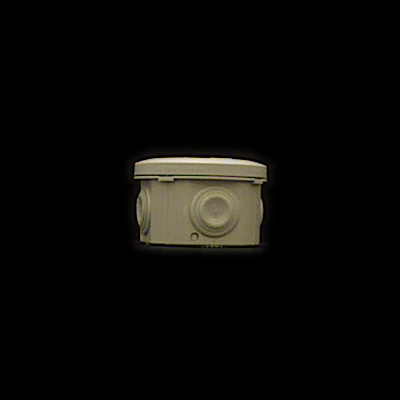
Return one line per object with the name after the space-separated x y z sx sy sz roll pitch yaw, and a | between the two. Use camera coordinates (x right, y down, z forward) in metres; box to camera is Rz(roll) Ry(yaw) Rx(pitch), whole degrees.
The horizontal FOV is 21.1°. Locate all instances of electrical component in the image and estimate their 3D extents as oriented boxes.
0.000 0.000 0.648 0.080 0.051 0.080 1 0 0 | electrical component
